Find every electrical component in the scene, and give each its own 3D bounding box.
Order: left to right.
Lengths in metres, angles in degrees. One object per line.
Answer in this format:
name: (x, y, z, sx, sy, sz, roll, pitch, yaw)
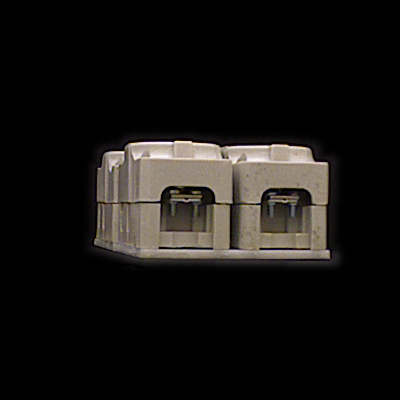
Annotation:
electrical component: (0.000, 0.000, 0.650, 0.106, 0.060, 0.186, 1, 0, -13)
